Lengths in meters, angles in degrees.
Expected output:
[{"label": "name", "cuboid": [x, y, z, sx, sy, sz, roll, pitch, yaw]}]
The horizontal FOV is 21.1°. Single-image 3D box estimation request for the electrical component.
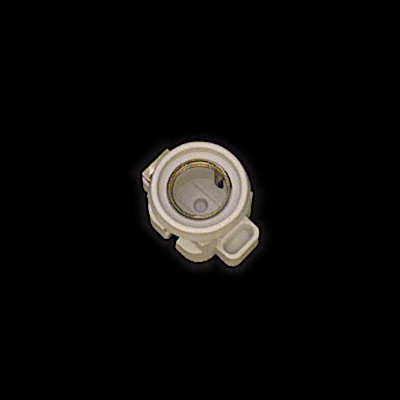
[{"label": "electrical component", "cuboid": [0.000, 0.000, 0.628, 0.078, 0.058, 0.056, 42, -12, 11]}]
